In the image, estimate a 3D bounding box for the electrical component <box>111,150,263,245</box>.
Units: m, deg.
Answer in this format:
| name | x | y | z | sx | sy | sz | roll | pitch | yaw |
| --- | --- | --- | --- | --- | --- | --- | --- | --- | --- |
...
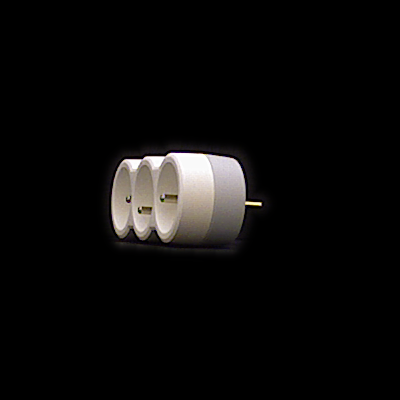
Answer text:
| name | x | y | z | sx | sy | sz | roll | pitch | yaw |
| --- | --- | --- | --- | --- | --- | --- | --- | --- | --- |
| electrical component | 0.000 | 0.000 | 0.652 | 0.074 | 0.052 | 0.138 | 3 | -2 | -21 |
